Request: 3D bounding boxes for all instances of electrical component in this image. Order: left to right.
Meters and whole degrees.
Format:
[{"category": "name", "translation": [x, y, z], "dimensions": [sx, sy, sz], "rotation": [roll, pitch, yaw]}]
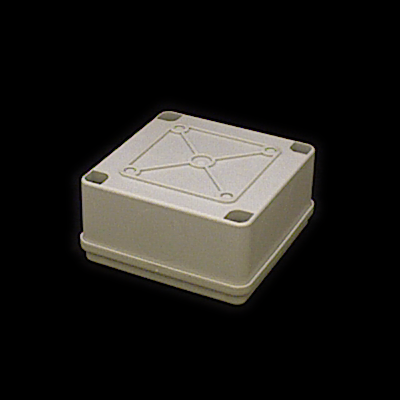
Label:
[{"category": "electrical component", "translation": [0.000, 0.000, 0.637], "dimensions": [0.108, 0.057, 0.108], "rotation": [16, 34, 21]}]
